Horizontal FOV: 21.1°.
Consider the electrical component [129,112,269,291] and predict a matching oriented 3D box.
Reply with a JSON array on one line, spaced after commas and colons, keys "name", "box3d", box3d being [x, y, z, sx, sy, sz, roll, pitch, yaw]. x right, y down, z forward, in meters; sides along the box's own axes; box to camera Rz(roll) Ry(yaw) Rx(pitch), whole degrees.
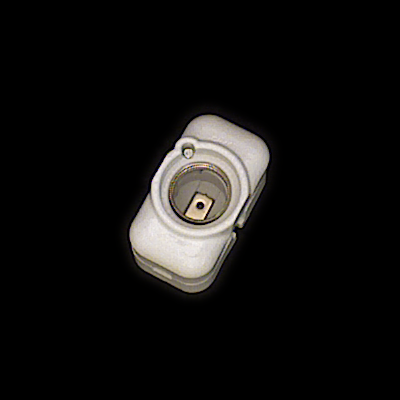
[{"name": "electrical component", "box3d": [0.000, 0.000, 0.634, 0.053, 0.096, 0.059, 26, -15, 7]}]
